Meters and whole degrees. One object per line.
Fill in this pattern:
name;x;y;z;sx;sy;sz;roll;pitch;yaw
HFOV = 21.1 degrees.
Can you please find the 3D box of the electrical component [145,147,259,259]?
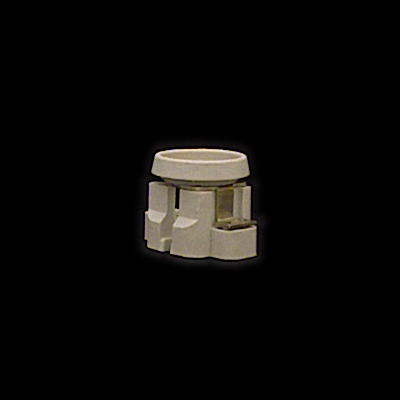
electrical component;0.000;0.000;0.644;0.058;0.057;0.078;-9;15;-42
